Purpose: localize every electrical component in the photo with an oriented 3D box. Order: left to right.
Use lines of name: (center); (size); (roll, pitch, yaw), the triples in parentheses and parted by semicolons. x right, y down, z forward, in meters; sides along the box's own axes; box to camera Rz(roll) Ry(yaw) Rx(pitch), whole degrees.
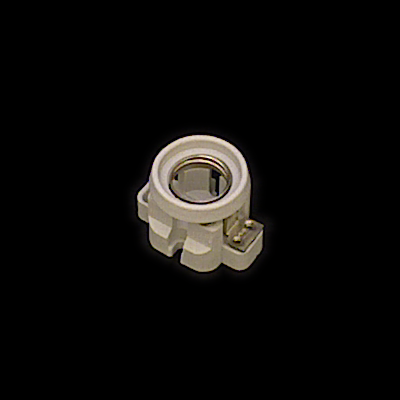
electrical component: (0.000, 0.000, 0.629); (0.078, 0.058, 0.057); (27, -33, 19)
